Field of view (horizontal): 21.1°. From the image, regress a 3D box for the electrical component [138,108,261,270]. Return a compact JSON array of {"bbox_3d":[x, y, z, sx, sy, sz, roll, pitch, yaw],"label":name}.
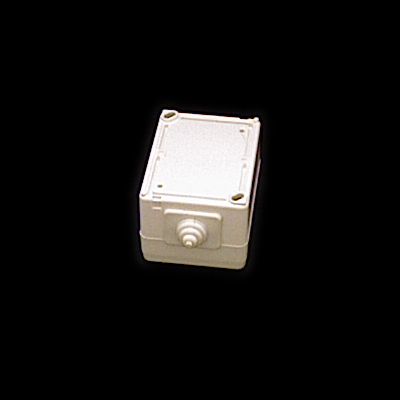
[{"bbox_3d":[0.000,0.000,0.630,0.061,0.061,0.095,5,43,5],"label":"electrical component"}]
